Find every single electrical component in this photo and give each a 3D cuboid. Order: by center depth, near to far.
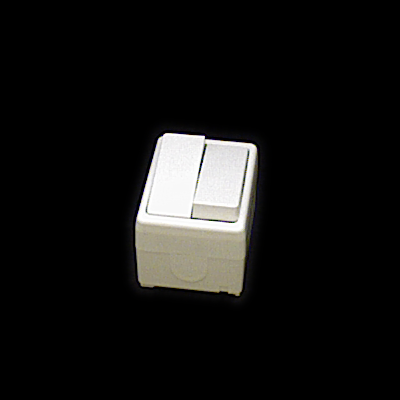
[{"bbox_3d":[0.000,0.000,0.633,0.062,0.061,0.095,6,42,6],"label":"electrical component"}]
